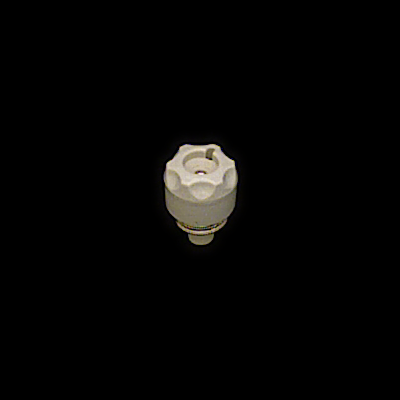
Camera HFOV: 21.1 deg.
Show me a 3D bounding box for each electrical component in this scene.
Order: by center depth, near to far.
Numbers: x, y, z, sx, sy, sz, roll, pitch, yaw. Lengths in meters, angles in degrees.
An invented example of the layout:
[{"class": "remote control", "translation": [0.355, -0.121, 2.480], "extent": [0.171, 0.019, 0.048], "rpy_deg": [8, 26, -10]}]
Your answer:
[{"class": "electrical component", "translation": [0.000, 0.000, 0.637], "extent": [0.043, 0.062, 0.043], "rpy_deg": [0, 43, 0]}]
